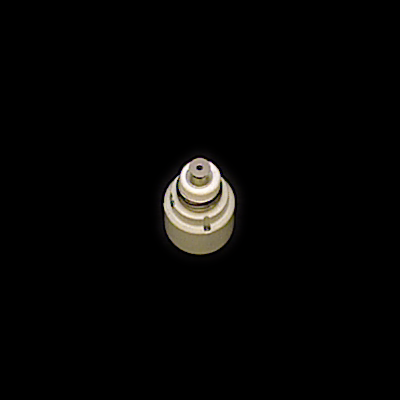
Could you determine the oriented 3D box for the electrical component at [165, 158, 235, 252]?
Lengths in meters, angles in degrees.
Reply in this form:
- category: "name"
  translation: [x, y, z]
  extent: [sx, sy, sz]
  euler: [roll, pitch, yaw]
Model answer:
- category: "electrical component"
  translation: [0.000, 0.000, 0.619]
  extent: [0.040, 0.040, 0.078]
  euler: [0, -27, -1]
